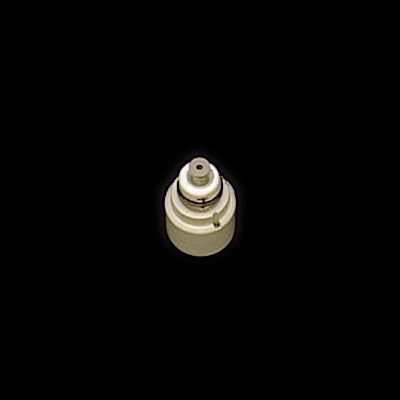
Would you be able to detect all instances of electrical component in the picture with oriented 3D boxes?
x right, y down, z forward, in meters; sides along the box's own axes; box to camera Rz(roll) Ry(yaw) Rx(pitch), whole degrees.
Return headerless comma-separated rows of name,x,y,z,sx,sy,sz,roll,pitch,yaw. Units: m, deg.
electrical component,0.000,0.000,0.617,0.040,0.040,0.078,0,-28,1
